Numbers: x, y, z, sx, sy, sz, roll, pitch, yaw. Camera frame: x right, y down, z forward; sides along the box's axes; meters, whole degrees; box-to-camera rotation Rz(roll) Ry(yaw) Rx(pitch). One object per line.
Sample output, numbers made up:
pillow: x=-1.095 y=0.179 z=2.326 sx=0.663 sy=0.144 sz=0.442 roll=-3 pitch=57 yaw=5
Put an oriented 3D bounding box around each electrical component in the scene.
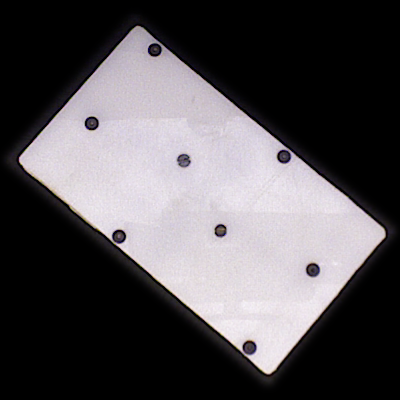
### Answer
electrical component: x=0.000 y=0.000 z=0.626 sx=0.186 sy=0.106 sz=0.060 roll=40 pitch=-5 yaw=5
